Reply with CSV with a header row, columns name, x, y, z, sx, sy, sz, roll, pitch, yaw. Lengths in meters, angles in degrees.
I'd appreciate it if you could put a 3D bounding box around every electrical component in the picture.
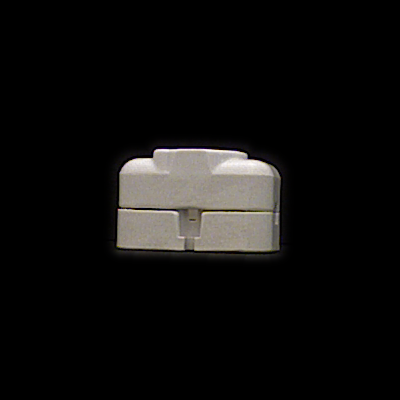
name,x,y,z,sx,sy,sz,roll,pitch,yaw
electrical component,0.000,0.000,0.655,0.095,0.059,0.054,1,1,11
